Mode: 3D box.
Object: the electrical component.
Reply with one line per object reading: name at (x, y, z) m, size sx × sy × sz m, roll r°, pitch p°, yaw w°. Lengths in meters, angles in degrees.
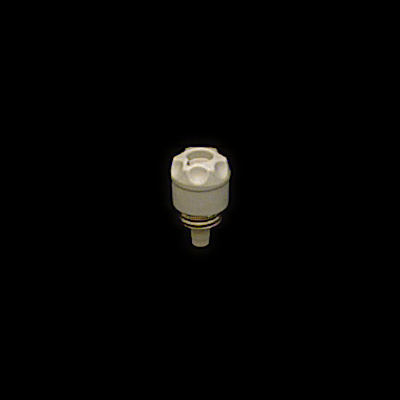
electrical component at (0.000, 0.000, 0.640) m, size 0.035 × 0.062 × 0.035 m, roll 0°, pitch 32°, yaw 0°
